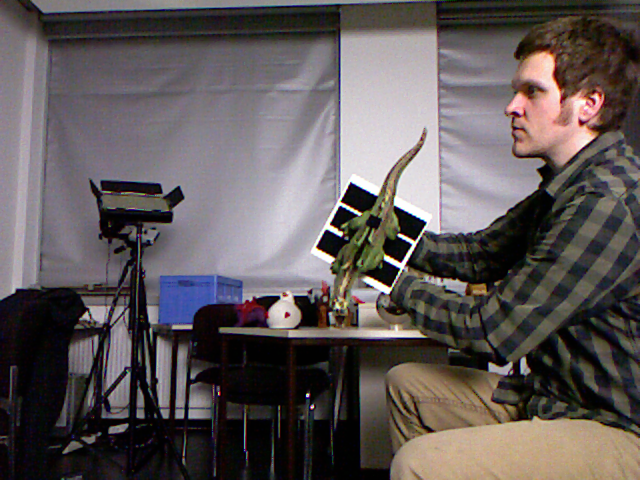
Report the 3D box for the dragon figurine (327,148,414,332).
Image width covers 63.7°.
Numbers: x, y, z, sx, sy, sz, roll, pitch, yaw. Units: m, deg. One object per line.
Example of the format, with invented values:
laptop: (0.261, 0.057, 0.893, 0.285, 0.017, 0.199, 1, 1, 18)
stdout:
dragon figurine: (0.108, -0.013, 1.047, 0.123, 0.411, 0.244, 23, 3, 1)
